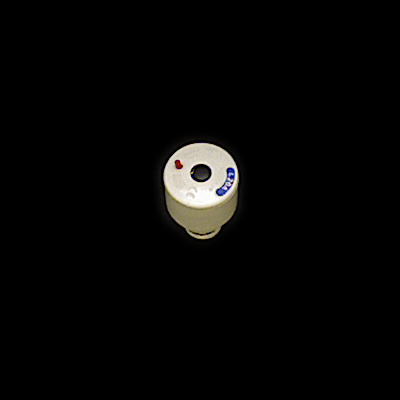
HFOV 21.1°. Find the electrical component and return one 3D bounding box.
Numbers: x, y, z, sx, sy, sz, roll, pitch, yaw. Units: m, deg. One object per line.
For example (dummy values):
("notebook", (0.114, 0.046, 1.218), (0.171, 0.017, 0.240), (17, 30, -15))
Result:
("electrical component", (0.000, 0.000, 0.618), (0.040, 0.040, 0.078), (0, -27, 1))
